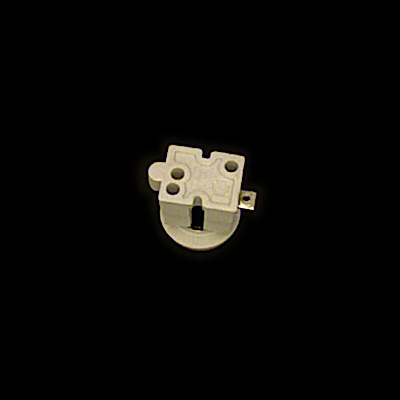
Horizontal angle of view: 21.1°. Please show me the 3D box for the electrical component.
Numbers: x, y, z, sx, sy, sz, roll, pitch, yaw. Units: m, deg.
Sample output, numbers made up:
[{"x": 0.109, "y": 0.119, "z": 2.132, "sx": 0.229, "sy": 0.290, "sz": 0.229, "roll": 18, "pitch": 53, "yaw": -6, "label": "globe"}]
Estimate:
[{"x": 0.000, "y": 0.000, "z": 0.637, "sx": 0.066, "sy": 0.048, "sz": 0.055, "roll": 9, "pitch": -27, "yaw": 3, "label": "electrical component"}]
